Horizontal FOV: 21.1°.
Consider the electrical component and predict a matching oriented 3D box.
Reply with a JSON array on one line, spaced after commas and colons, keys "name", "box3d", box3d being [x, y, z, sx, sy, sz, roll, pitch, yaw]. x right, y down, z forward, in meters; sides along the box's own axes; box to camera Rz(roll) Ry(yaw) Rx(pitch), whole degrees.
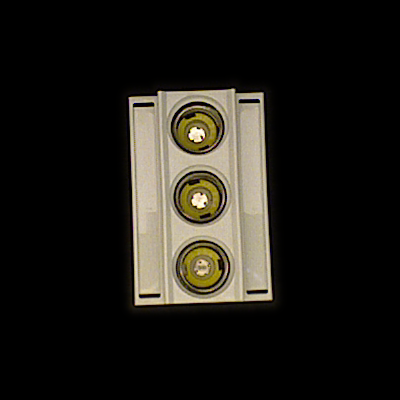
[{"name": "electrical component", "box3d": [0.000, 0.000, 0.637, 0.079, 0.121, 0.063, -2, -6, -1]}]
